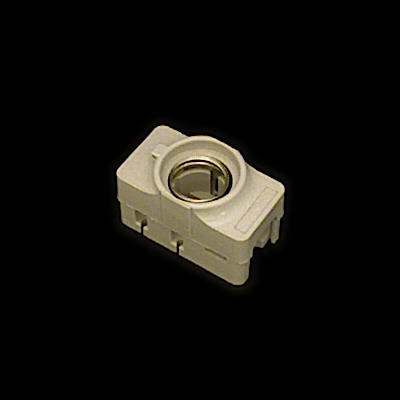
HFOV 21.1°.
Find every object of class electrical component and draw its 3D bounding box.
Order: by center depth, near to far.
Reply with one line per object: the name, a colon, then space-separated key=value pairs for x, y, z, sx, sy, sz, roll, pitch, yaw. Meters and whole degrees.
electrical component: x=0.000 y=0.000 z=0.637 sx=0.089 sy=0.050 sz=0.056 roll=27 pitch=-33 yaw=18
